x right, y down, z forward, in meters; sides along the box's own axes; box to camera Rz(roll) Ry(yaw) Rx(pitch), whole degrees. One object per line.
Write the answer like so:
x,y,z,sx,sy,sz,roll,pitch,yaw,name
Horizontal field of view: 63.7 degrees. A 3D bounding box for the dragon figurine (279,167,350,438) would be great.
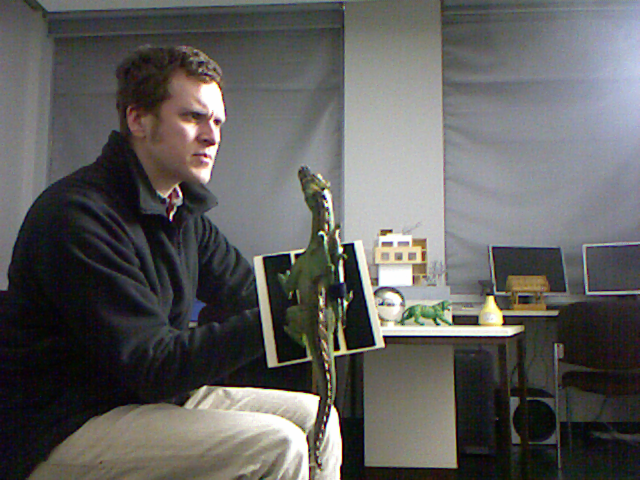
0.002,0.089,0.785,0.123,0.418,0.240,-6,-16,-6,dragon figurine
